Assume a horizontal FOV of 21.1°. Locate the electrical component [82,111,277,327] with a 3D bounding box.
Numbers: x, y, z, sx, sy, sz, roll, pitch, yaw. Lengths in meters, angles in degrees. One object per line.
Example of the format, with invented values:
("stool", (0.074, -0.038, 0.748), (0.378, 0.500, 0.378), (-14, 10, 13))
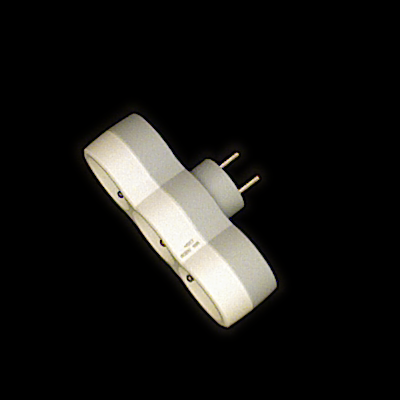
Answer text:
("electrical component", (0.000, 0.000, 0.638), (0.074, 0.138, 0.052), (-38, -13, -11))
